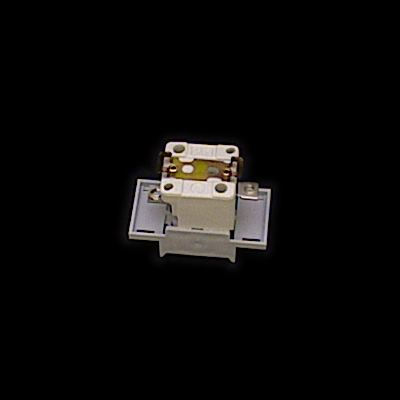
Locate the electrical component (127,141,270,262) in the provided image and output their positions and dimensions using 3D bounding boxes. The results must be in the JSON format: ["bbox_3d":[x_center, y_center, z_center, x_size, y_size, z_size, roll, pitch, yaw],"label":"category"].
[{"bbox_3d":[0.000,0.000,0.627,0.081,0.042,0.064,4,-37,3],"label":"electrical component"}]
